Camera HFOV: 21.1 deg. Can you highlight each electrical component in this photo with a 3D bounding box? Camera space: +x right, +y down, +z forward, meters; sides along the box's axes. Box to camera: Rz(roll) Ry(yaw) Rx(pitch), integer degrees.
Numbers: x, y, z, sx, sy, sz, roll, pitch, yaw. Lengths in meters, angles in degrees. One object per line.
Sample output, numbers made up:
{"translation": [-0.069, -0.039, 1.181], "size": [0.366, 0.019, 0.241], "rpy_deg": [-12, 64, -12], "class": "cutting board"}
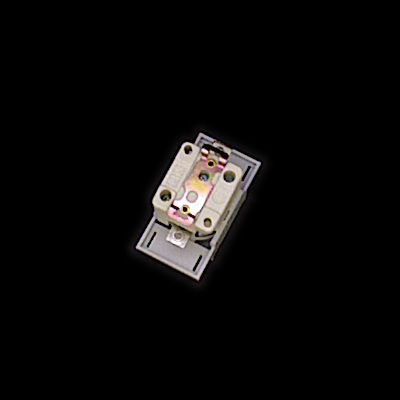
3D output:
{"translation": [0.000, 0.000, 0.625], "size": [0.042, 0.081, 0.063], "rpy_deg": [26, -15, 7], "class": "electrical component"}
